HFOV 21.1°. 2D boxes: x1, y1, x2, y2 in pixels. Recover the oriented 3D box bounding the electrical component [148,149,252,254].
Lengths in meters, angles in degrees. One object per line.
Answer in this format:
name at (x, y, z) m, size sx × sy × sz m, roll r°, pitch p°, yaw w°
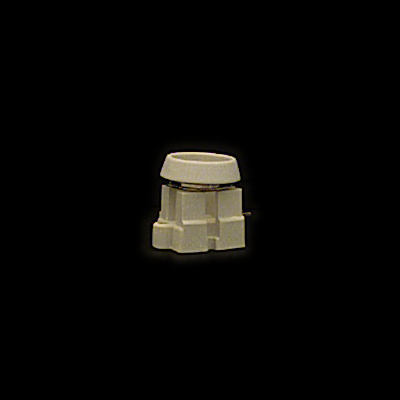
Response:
electrical component at (0.000, 0.000, 0.653) m, size 0.067 × 0.056 × 0.047 m, roll -5°, pitch 15°, yaw -27°
